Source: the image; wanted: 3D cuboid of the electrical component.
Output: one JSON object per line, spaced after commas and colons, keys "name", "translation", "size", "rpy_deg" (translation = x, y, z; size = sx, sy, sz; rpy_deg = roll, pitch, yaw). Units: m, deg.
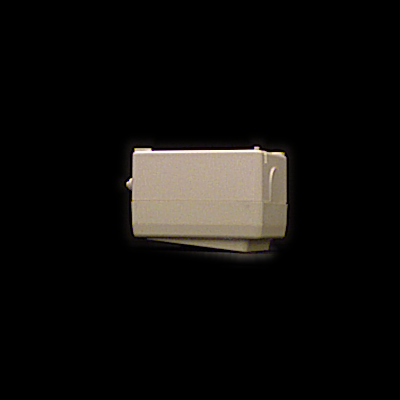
{"name": "electrical component", "translation": [0.000, 0.000, 0.653], "size": [0.096, 0.061, 0.062], "rpy_deg": [1, 0, 19]}
